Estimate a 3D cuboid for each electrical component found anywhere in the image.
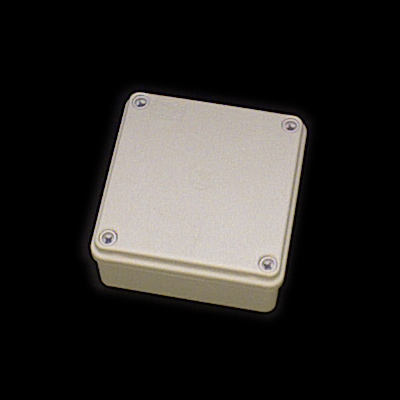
[{"bbox_3d":[0.000,0.000,0.628,0.109,0.109,0.056,9,-27,4],"label":"electrical component"}]
